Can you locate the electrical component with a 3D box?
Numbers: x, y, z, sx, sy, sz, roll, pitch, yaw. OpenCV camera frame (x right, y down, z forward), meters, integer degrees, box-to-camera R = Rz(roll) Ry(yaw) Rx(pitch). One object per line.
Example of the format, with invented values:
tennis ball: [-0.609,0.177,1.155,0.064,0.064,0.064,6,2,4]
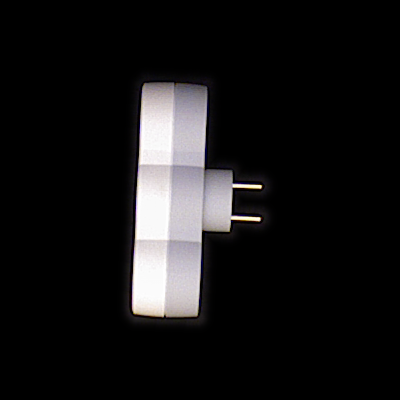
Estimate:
electrical component: [0.000,0.000,0.632,0.074,0.138,0.052,2,-8,-2]
